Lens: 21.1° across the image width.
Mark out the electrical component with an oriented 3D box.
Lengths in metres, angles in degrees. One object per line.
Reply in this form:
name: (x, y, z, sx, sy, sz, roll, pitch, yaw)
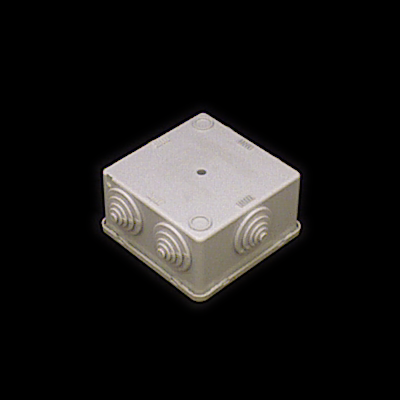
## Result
electrical component: (0.000, 0.000, 0.634, 0.100, 0.049, 0.099, -33, 52, -31)
